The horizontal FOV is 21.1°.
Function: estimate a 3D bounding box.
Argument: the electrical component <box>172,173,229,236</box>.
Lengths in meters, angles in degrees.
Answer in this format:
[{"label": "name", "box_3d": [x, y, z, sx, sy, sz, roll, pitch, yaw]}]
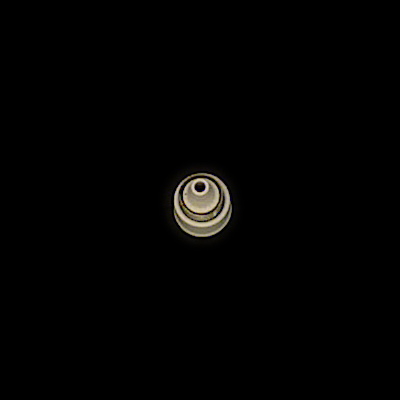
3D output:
[{"label": "electrical component", "box_3d": [0.000, 0.000, 0.637, 0.035, 0.035, 0.061, 0, -15, 2]}]
